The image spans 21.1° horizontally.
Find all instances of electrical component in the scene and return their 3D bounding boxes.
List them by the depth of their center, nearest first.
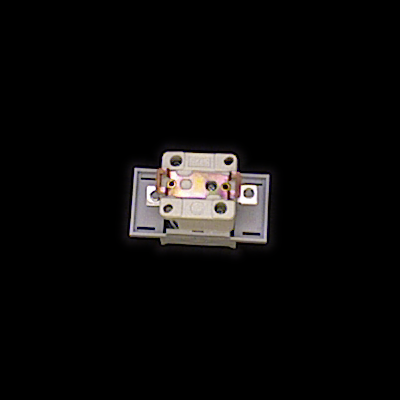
[{"bbox_3d":[0.000,0.000,0.625,0.081,0.042,0.063,2,-16,0],"label":"electrical component"}]
